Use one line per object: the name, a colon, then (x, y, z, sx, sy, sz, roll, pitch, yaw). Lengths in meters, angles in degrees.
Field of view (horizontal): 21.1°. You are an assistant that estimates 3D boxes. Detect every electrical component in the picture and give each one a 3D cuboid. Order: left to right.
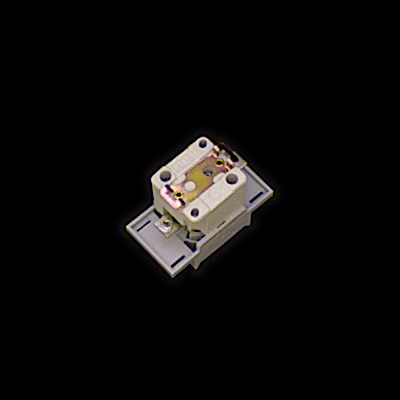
electrical component: (0.000, 0.000, 0.625, 0.081, 0.042, 0.063, -39, -20, -18)
